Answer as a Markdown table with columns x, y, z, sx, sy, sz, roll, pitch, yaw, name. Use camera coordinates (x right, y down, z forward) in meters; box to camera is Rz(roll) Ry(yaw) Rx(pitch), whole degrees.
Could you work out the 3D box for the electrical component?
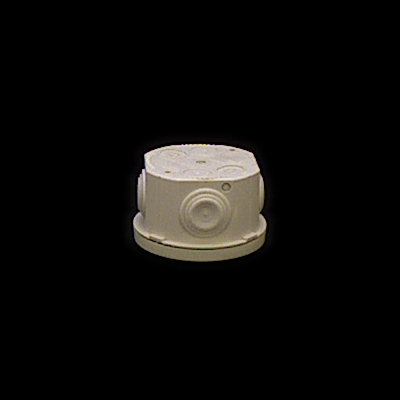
| x | y | z | sx | sy | sz | roll | pitch | yaw | name |
| --- | --- | --- | --- | --- | --- | --- | --- | --- | --- |
| 0.000 | 0.000 | 0.642 | 0.080 | 0.051 | 0.079 | 1 | 20 | 0 | electrical component |
